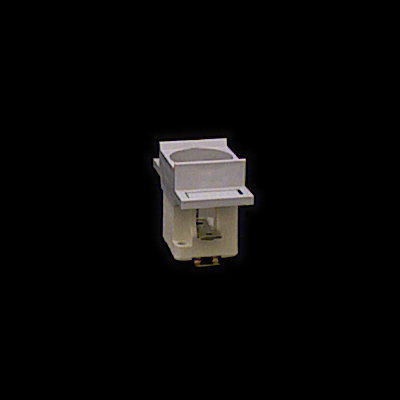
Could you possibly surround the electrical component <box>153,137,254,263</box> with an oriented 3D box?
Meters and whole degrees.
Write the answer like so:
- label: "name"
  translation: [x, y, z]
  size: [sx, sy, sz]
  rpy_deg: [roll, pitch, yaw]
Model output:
- label: "electrical component"
  translation: [0.000, 0.000, 0.635]
  size: [0.042, 0.064, 0.080]
  rpy_deg: [-3, 21, -13]
